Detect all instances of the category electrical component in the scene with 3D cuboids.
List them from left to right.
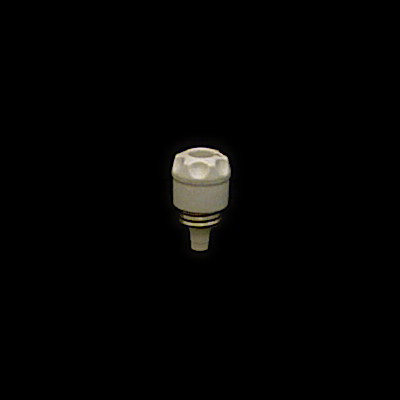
[{"bbox_3d":[0.000,0.000,0.644,0.035,0.062,0.034,1,23,0],"label":"electrical component"}]
